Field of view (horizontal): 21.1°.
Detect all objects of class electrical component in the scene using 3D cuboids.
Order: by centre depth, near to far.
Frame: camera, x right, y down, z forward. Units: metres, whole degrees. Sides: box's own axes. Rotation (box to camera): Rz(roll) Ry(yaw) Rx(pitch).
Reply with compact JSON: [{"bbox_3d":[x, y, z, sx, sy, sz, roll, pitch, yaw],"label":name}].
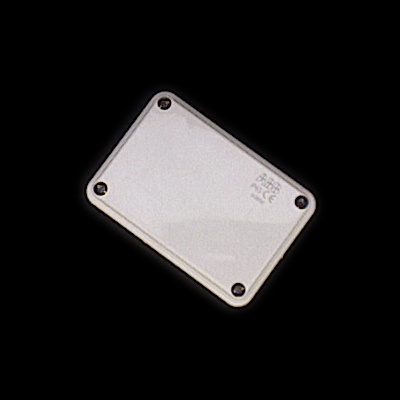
[{"bbox_3d":[0.000,0.000,0.628,0.113,0.078,0.057,36,-5,4],"label":"electrical component"}]
